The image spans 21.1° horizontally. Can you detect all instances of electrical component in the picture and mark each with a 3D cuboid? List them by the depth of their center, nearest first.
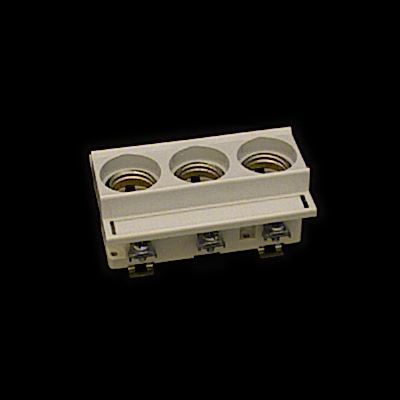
[{"bbox_3d":[0.000,0.000,0.643,0.122,0.064,0.077,-8,42,-9],"label":"electrical component"}]
